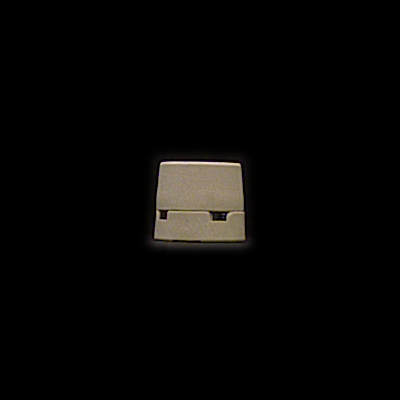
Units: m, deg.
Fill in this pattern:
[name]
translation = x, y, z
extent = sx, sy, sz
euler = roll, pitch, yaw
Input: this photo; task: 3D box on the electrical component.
[electrical component]
translation = 0.000, 0.000, 0.648
extent = 0.055, 0.047, 0.055
euler = 1, 1, 0
